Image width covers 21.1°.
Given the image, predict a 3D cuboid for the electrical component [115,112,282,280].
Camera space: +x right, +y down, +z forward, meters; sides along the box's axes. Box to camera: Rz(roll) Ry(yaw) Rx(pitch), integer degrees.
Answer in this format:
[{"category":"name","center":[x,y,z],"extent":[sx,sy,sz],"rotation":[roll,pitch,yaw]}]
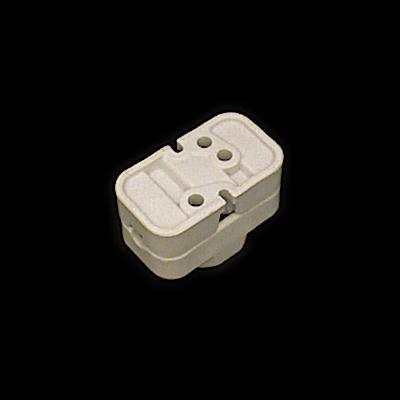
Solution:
[{"category":"electrical component","center":[0.000,0.000,0.636],"extent":[0.096,0.053,0.059],"rotation":[-33,-30,-22]}]
